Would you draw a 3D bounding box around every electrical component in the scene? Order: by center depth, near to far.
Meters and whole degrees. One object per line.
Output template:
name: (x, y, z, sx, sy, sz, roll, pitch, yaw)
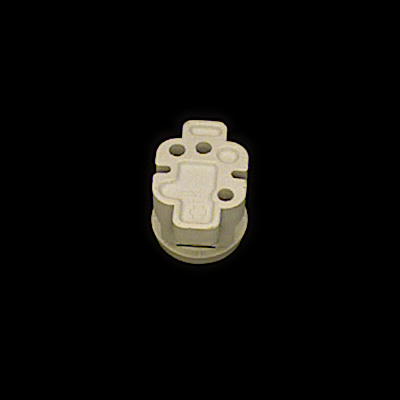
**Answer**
electrical component: (0.000, 0.000, 0.636, 0.058, 0.078, 0.057, 3, -35, 1)
